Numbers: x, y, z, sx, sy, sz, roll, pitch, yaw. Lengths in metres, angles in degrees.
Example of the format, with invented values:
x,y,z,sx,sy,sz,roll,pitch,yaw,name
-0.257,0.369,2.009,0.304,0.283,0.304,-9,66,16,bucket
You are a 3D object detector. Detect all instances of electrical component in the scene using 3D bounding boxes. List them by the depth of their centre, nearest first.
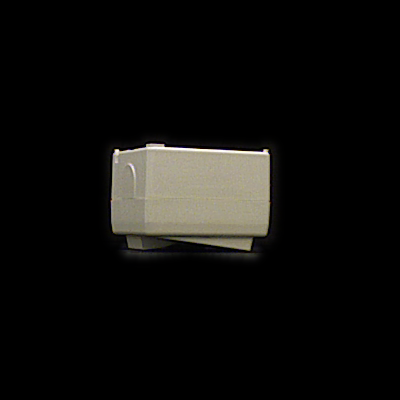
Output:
x,y,z,sx,sy,sz,roll,pitch,yaw,name
0.000,0.000,0.655,0.096,0.061,0.062,1,0,-25,electrical component
